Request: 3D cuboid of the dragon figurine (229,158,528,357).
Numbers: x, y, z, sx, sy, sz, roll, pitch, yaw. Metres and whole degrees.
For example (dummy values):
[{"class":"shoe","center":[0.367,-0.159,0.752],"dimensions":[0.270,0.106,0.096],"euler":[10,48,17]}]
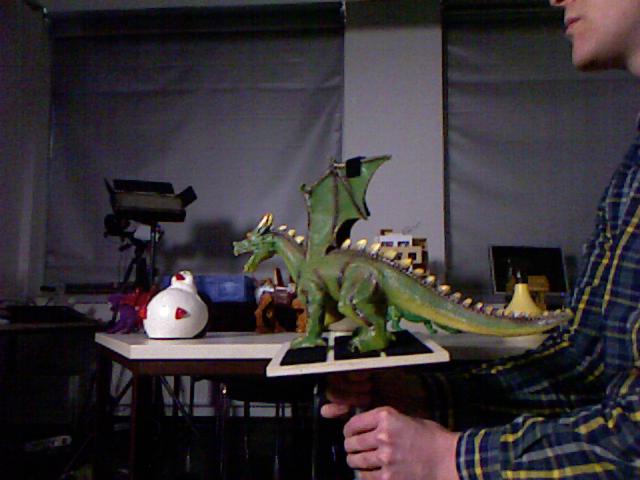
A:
[{"class":"dragon figurine","center":[0.041,0.013,0.665],"dimensions":[0.408,0.243,0.123],"euler":[-10,-1,35]}]
